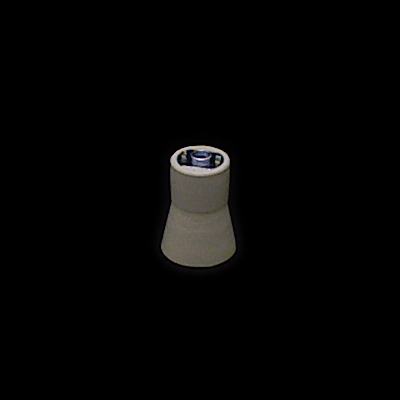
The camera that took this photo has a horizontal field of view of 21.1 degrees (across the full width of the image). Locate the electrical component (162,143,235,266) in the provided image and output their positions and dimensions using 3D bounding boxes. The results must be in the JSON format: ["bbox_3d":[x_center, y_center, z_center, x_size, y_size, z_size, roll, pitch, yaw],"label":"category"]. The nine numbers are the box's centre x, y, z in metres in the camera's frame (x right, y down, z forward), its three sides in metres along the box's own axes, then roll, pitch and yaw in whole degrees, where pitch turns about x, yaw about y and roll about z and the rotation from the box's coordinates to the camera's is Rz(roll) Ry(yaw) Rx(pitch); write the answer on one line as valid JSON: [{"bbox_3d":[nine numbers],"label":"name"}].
[{"bbox_3d":[0.000,0.000,0.632,0.044,0.066,0.044,1,33,0],"label":"electrical component"}]
